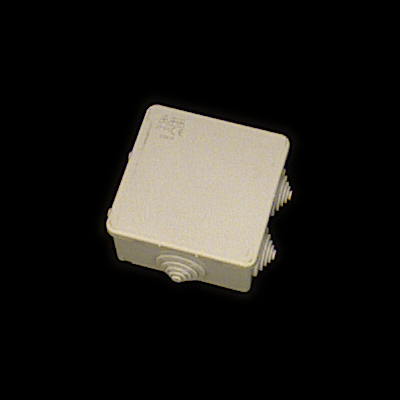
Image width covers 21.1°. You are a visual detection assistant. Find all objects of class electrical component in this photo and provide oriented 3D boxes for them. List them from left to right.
[{"bbox_3d":[0.000,0.000,0.640,0.099,0.100,0.048,14,-26,7],"label":"electrical component"}]
